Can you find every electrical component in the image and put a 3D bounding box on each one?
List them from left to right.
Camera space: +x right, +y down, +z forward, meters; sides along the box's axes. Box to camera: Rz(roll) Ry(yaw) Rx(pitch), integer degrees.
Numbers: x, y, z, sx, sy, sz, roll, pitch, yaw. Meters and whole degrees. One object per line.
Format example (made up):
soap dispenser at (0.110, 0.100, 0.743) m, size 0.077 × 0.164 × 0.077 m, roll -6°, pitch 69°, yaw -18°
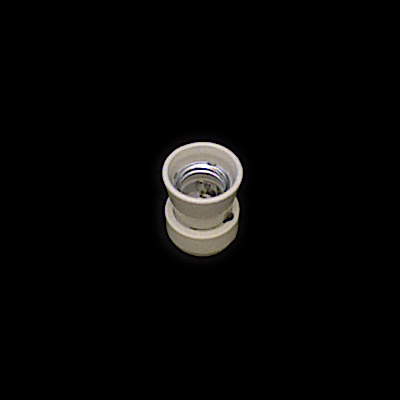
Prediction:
electrical component at (0.000, 0.000, 0.630) m, size 0.045 × 0.044 × 0.055 m, roll 0°, pitch -38°, yaw -1°
